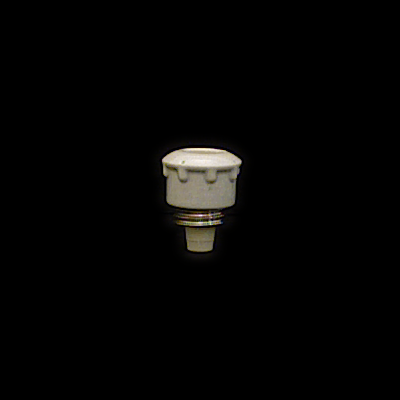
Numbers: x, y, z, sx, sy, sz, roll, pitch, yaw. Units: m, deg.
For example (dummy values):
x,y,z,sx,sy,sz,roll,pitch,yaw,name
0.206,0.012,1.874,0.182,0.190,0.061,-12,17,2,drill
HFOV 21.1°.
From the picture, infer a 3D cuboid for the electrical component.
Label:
x,y,z,sx,sy,sz,roll,pitch,yaw,name
0.000,0.000,0.654,0.048,0.062,0.048,1,11,0,electrical component
